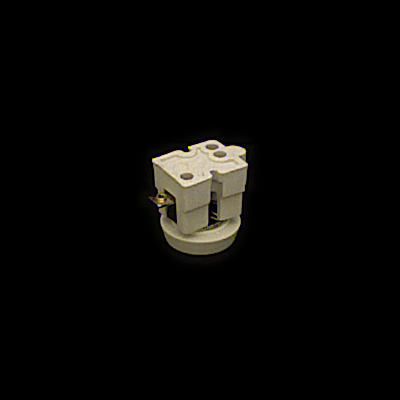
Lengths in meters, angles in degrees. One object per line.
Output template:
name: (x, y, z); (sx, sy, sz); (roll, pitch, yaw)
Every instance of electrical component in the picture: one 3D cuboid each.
electrical component: (0.000, 0.000, 0.644); (0.067, 0.056, 0.047); (-19, 39, -27)
